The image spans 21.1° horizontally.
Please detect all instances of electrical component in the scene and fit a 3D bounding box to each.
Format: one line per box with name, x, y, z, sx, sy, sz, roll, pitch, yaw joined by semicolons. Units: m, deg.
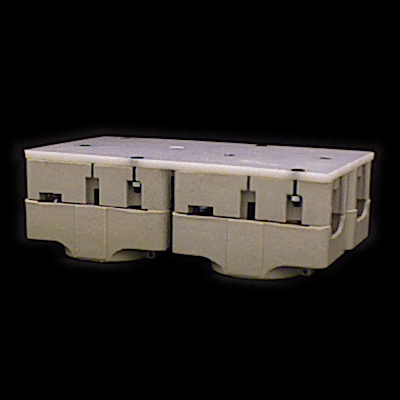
electrical component;0.000;0.000;0.644;0.186;0.060;0.105;5;10;21
